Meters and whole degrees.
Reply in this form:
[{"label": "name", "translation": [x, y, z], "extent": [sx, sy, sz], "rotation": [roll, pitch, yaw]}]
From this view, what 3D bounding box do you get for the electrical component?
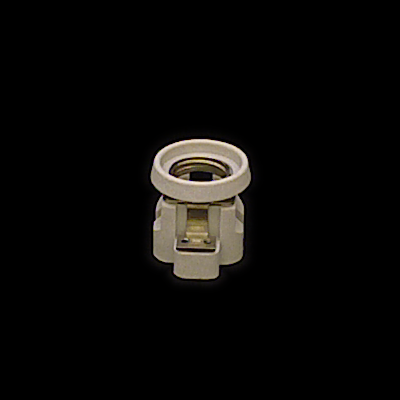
[{"label": "electrical component", "translation": [0.000, 0.000, 0.634], "extent": [0.058, 0.057, 0.077], "rotation": [2, 32, 2]}]
